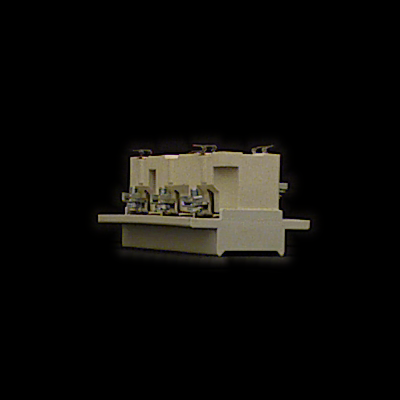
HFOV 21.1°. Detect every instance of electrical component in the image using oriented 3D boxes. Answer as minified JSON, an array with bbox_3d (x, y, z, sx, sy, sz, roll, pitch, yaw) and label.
[{"bbox_3d":[0.000,0.000,0.654,0.079,0.063,0.120,0,1,-30],"label":"electrical component"}]
